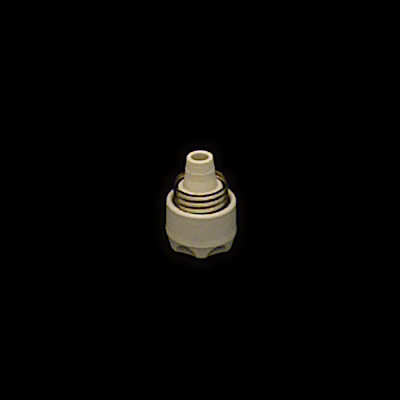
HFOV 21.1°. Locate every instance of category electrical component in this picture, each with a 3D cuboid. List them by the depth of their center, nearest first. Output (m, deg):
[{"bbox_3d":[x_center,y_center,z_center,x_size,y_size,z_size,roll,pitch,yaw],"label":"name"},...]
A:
[{"bbox_3d":[0.000,0.000,0.641,0.043,0.063,0.043,0,32,1],"label":"electrical component"}]
